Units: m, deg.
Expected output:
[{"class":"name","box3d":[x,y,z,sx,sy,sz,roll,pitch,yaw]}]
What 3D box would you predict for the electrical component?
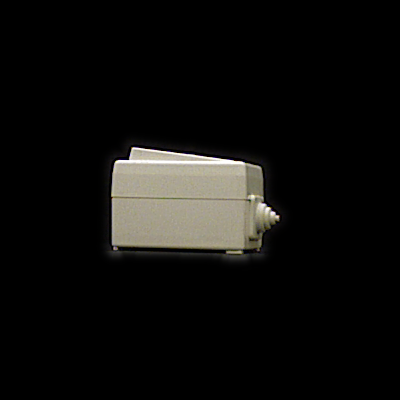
[{"class":"electrical component","box3d":[0.000,0.000,0.649,0.096,0.061,0.061,1,0,14]}]
